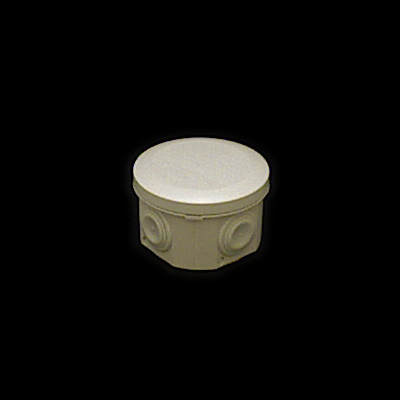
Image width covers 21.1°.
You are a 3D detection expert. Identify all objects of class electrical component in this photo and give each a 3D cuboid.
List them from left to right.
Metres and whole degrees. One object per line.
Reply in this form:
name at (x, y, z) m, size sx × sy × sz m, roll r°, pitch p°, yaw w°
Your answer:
electrical component at (0.000, 0.000, 0.637) m, size 0.080 × 0.051 × 0.079 m, roll 1°, pitch 31°, yaw 0°
